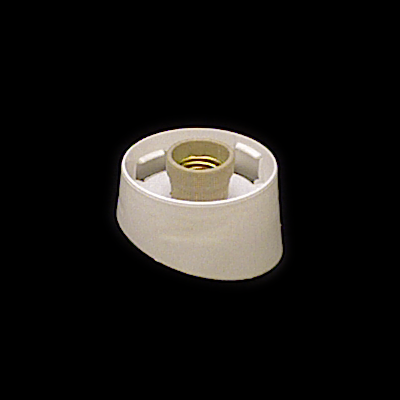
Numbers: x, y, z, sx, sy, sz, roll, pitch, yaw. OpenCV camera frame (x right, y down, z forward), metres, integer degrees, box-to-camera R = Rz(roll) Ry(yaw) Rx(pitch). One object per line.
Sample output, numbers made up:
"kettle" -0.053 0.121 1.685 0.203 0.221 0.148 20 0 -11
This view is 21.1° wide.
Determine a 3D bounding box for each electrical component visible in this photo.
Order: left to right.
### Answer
"electrical component" 0.000 0.000 0.633 0.099 0.065 0.097 1 31 0
